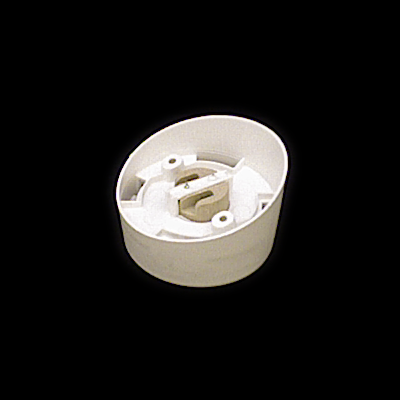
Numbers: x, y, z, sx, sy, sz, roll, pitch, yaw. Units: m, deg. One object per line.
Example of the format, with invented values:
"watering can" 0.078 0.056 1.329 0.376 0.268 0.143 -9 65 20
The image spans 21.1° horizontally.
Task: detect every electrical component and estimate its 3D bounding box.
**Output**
"electrical component" 0.000 0.000 0.630 0.099 0.065 0.097 1 41 -1
